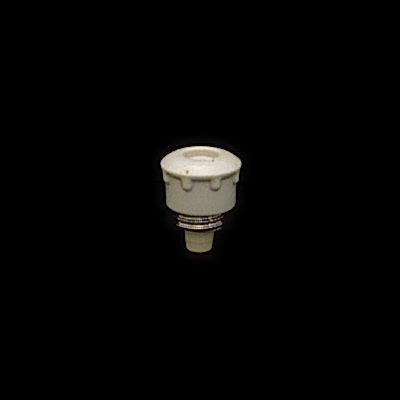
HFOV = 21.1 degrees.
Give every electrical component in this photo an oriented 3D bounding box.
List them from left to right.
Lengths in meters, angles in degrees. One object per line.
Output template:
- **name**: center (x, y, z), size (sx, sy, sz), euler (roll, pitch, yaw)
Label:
- **electrical component**: center (0.000, 0.000, 0.647), size (0.048, 0.063, 0.047), euler (1, 22, 0)
